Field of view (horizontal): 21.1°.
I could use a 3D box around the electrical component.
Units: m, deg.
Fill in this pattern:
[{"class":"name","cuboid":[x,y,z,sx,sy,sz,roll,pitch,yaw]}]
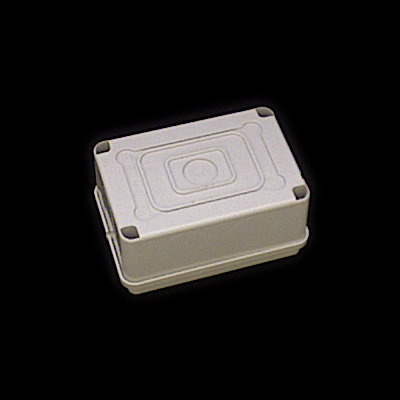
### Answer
[{"class":"electrical component","cuboid":[0.000,0.000,0.629,0.113,0.078,0.057,-13,-36,-10]}]
